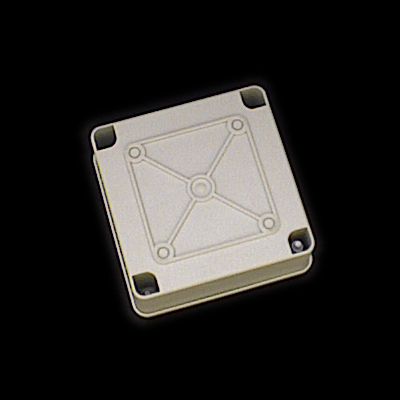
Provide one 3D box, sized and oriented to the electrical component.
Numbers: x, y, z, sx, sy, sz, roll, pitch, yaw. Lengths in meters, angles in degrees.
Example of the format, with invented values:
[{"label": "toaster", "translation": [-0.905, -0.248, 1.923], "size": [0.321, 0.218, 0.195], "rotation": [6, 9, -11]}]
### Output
[{"label": "electrical component", "translation": [0.000, 0.000, 0.628], "size": [0.109, 0.109, 0.056], "rotation": [-15, -16, -5]}]
